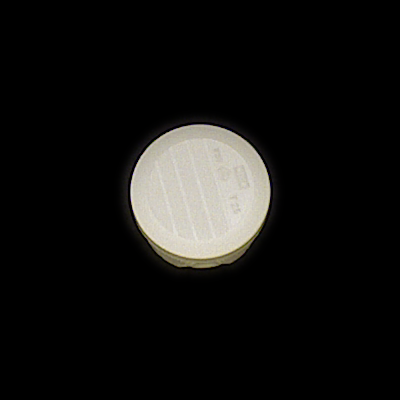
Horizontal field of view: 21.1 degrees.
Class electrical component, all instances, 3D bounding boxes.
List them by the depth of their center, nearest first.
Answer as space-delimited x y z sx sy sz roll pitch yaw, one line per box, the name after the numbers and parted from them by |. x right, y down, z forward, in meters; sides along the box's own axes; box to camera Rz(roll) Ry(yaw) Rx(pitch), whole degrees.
0.000 0.000 0.629 0.080 0.080 0.050 0 -17 0 | electrical component
